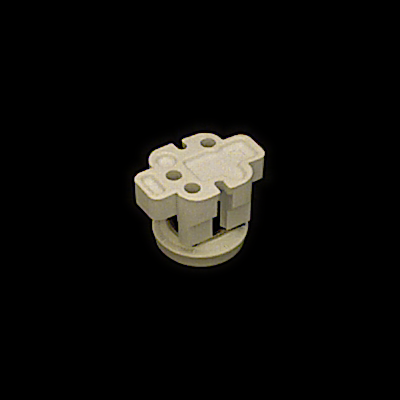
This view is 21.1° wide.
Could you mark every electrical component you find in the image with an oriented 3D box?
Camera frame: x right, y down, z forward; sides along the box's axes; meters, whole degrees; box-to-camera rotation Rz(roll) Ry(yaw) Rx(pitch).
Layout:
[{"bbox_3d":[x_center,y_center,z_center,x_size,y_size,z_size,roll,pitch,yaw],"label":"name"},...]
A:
[{"bbox_3d":[0.000,0.000,0.641,0.079,0.057,0.057,-23,47,-26],"label":"electrical component"}]
